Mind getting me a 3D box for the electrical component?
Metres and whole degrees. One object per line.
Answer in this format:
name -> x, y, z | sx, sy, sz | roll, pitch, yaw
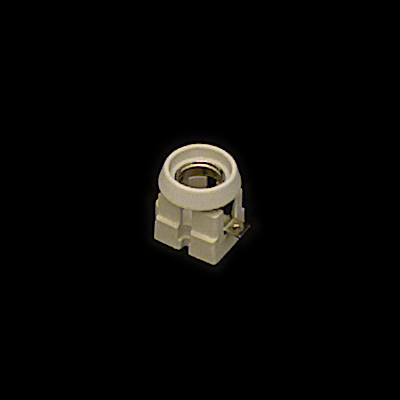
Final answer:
electrical component -> 0.000, 0.000, 0.640 | 0.066, 0.056, 0.048 | 22, 49, 22
